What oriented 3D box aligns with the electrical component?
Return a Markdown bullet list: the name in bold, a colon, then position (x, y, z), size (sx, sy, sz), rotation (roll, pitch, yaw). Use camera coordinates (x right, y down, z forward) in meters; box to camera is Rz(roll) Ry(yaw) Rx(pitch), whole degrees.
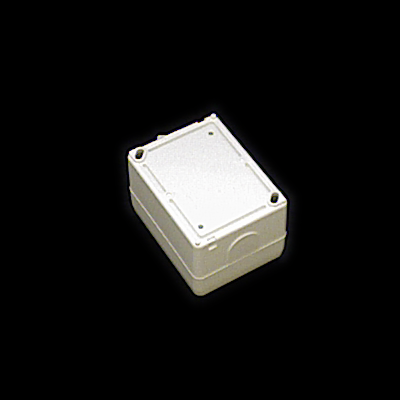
- **electrical component**: position (0.000, 0.000, 0.631), size (0.062, 0.095, 0.061), rotation (-26, -33, -19)
